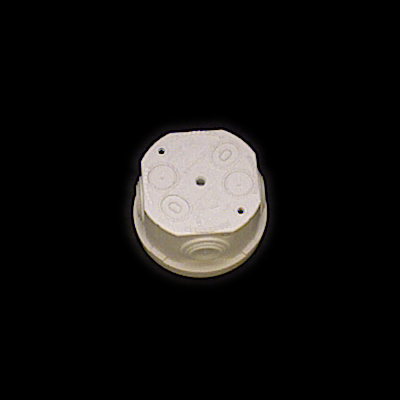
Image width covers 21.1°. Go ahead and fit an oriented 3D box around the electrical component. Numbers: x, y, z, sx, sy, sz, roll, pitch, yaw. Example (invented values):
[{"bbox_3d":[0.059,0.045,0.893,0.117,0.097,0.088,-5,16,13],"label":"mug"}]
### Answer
[{"bbox_3d":[0.000,0.000,0.631,0.080,0.080,0.050,0,-27,-1],"label":"electrical component"}]
